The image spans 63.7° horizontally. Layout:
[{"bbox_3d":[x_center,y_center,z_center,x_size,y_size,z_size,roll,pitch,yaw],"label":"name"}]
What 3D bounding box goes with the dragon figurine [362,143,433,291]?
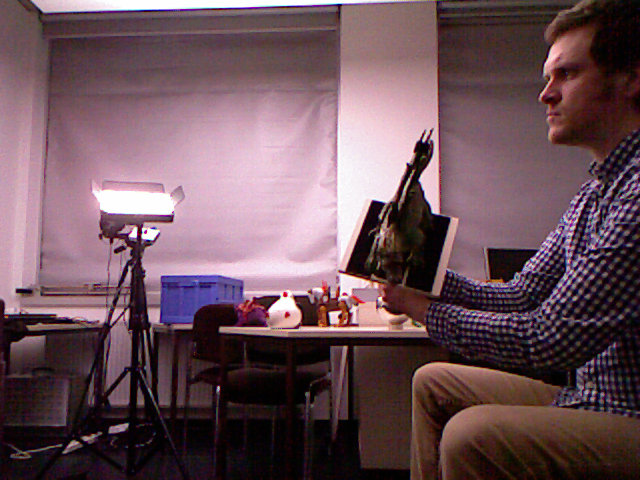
[{"bbox_3d":[0.170,-0.076,0.968,0.123,0.420,0.238,15,-32,8],"label":"dragon figurine"}]
